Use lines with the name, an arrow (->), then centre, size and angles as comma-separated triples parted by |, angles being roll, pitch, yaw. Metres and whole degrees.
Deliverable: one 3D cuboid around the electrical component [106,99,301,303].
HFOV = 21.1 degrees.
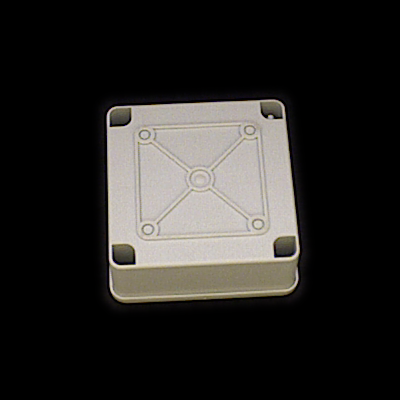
electrical component -> 0.000, 0.000, 0.629 | 0.109, 0.108, 0.056 | -2, -27, -2
